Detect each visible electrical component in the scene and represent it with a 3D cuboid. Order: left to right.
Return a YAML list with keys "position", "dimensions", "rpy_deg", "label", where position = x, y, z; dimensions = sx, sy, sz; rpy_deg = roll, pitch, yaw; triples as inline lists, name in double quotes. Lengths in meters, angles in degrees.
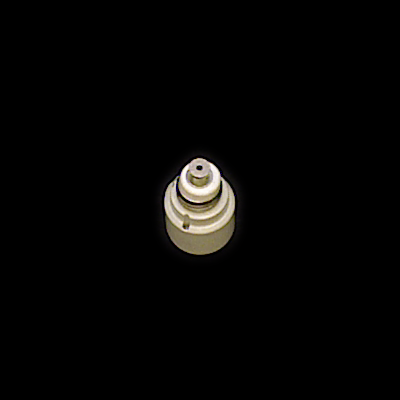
- position: [0.000, 0.000, 0.619]
  dimensions: [0.040, 0.040, 0.078]
  rpy_deg: [0, -26, 0]
  label: "electrical component"
